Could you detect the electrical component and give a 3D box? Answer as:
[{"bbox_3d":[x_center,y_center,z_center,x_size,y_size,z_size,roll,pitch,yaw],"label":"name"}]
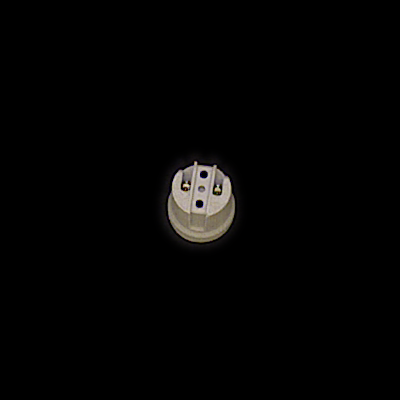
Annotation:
[{"bbox_3d":[0.000,0.000,0.634,0.040,0.040,0.046,0,-16,0],"label":"electrical component"}]
